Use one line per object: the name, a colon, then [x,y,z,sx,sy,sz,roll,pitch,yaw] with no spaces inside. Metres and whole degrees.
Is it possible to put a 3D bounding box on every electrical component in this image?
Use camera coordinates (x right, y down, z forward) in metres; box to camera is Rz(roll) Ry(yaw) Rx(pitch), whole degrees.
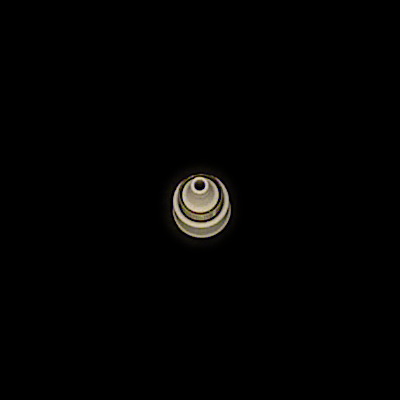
electrical component: [0.000,0.000,0.636,0.035,0.035,0.061,0,-18,1]
